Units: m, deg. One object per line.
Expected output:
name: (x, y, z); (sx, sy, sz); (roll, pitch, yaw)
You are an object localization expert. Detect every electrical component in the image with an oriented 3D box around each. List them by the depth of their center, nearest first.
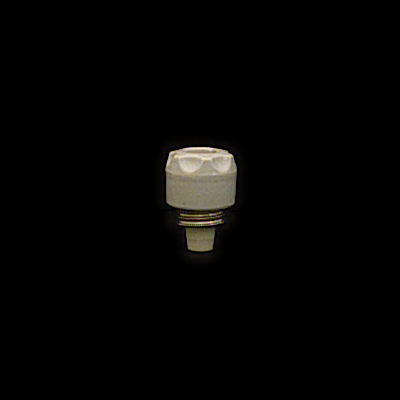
electrical component: (0.000, 0.000, 0.650); (0.043, 0.062, 0.043); (1, 13, 0)
